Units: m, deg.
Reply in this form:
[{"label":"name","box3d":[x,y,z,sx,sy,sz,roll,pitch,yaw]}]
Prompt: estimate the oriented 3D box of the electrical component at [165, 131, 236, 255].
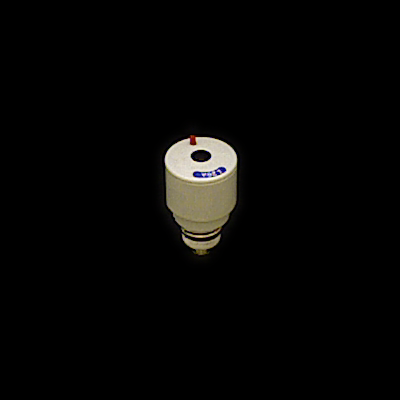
[{"label":"electrical component","box3d":[0.000,0.000,0.626,0.040,0.079,0.039,0,41,0]}]
